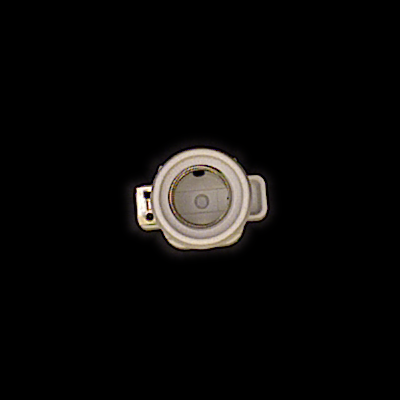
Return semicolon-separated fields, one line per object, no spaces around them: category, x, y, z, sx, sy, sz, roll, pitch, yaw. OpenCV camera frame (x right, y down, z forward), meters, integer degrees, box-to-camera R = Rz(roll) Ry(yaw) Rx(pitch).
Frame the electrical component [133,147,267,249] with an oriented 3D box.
electrical component;0.000;0.000;0.630;0.078;0.058;0.056;-5;-6;0
